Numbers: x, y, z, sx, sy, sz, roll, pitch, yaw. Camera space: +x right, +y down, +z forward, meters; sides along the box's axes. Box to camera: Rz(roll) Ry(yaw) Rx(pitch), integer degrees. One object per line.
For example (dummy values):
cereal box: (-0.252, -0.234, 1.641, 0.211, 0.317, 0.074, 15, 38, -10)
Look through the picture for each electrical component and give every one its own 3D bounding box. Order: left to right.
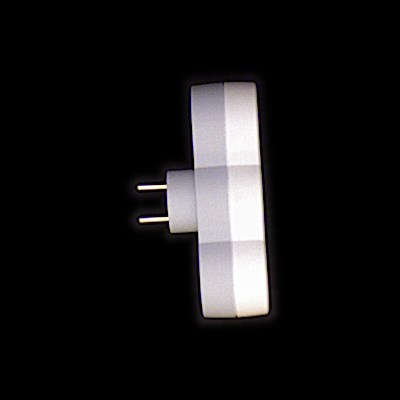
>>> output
electrical component: (0.000, 0.000, 0.631, 0.074, 0.138, 0.052, -3, -6, 2)
